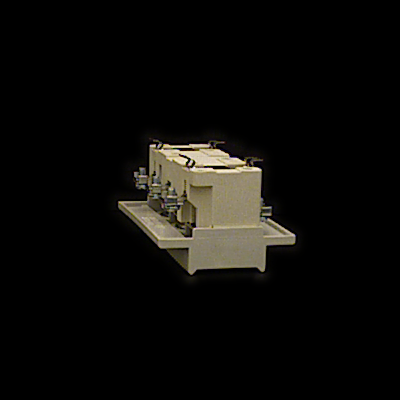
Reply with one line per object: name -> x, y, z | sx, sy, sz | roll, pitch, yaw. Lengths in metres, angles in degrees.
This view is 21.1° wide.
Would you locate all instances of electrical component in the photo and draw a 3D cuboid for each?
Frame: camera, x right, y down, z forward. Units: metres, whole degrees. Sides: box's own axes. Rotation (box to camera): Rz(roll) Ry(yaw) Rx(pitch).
electrical component -> 0.000, 0.000, 0.653 | 0.079, 0.063, 0.120 | -1, 11, -15
